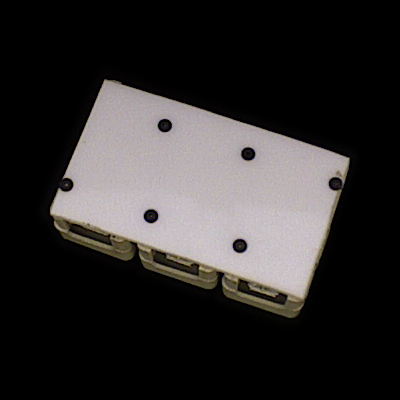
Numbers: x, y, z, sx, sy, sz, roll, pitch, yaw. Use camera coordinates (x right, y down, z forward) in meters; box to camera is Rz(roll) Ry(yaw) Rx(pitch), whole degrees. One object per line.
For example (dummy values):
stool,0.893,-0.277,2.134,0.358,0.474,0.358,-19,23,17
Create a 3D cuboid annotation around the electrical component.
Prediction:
electrical component,0.000,0.000,0.630,0.150,0.089,0.062,19,-16,6
